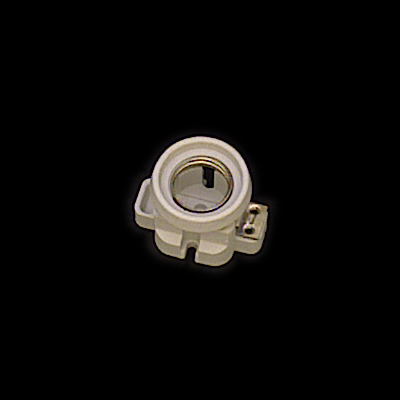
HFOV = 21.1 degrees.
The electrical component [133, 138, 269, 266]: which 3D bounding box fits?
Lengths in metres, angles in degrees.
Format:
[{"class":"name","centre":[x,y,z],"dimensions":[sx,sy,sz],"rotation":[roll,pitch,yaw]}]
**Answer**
[{"class":"electrical component","centre":[0.000,0.000,0.629],"dimensions":[0.078,0.058,0.057],"rotation":[14,-26,7]}]
